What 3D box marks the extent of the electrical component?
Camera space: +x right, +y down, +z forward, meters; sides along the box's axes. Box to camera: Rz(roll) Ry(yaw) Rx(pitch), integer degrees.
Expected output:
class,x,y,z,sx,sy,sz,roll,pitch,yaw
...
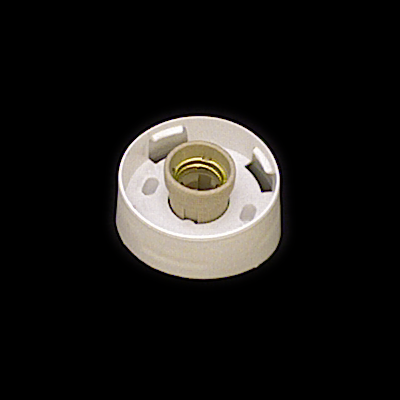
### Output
class,x,y,z,sx,sy,sz,roll,pitch,yaw
electrical component,0.000,0.000,0.626,0.099,0.098,0.064,0,-38,-1
